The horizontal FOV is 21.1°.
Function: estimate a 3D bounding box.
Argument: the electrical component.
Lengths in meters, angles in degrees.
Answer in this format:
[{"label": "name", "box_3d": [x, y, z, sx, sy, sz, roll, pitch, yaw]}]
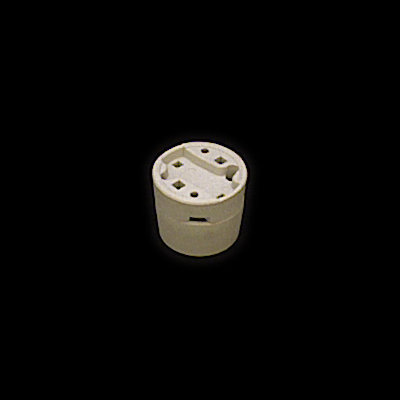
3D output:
[{"label": "electrical component", "box_3d": [0.000, 0.000, 0.636, 0.055, 0.047, 0.055, 0, 42, 0]}]
